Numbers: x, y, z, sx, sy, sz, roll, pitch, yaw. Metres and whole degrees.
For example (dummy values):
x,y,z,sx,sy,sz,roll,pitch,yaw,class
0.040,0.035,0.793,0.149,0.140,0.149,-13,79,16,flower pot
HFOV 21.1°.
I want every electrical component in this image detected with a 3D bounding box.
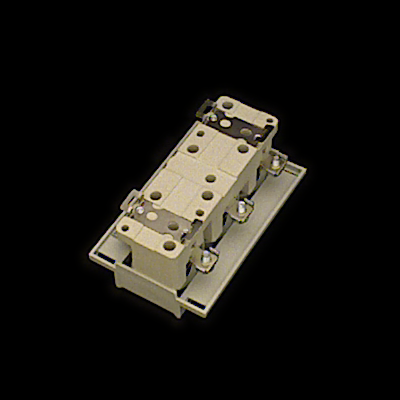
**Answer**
x,y,z,sx,sy,sz,roll,pitch,yaw,class
0.000,0.000,0.635,0.078,0.122,0.063,25,-33,18,electrical component
